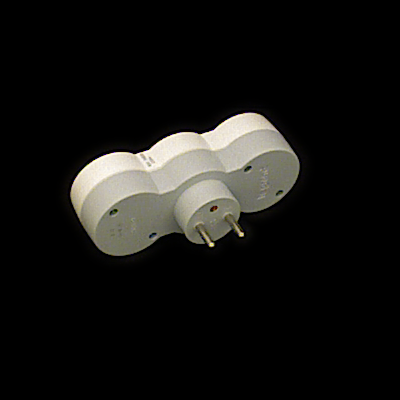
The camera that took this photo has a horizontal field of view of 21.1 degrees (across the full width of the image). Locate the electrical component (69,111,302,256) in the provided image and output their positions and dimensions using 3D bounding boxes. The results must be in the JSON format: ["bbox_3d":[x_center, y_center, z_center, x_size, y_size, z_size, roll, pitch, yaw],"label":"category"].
[{"bbox_3d":[0.000,0.000,0.638,0.139,0.052,0.073,-18,47,-20],"label":"electrical component"}]
